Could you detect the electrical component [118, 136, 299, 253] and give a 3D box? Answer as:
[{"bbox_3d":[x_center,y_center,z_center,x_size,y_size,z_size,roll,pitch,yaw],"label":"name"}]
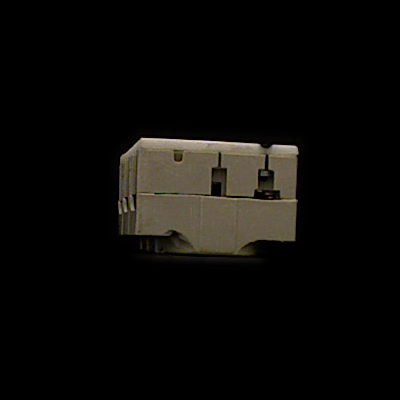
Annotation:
[{"bbox_3d":[0.000,0.000,0.659,0.090,0.062,0.150,2,-1,-8],"label":"electrical component"}]
